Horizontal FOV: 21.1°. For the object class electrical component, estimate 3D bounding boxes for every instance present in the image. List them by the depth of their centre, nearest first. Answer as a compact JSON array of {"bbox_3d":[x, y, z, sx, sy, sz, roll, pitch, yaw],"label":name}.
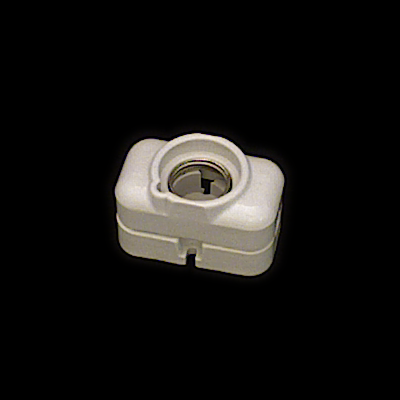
[{"bbox_3d":[0.000,0.000,0.634,0.095,0.053,0.059,10,-37,7],"label":"electrical component"}]
